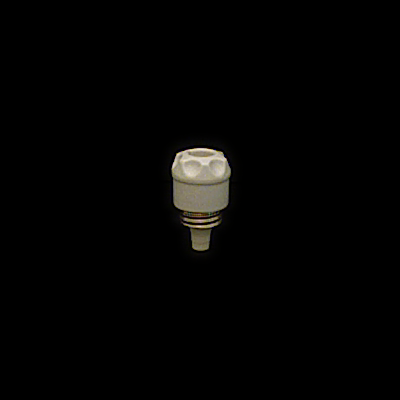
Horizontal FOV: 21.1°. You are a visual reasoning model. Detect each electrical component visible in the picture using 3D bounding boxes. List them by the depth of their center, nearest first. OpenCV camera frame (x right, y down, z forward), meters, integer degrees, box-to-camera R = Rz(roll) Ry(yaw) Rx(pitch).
[{"bbox_3d":[0.000,0.000,0.647,0.035,0.062,0.034,1,22,0],"label":"electrical component"}]
